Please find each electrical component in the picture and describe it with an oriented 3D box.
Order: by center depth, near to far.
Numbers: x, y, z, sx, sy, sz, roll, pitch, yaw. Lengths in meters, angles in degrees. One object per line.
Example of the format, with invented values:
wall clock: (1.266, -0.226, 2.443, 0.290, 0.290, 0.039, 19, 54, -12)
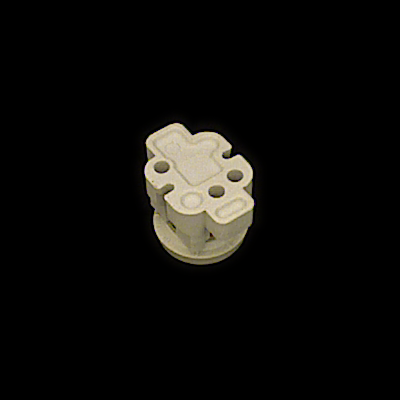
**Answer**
electrical component: (0.000, 0.000, 0.637, 0.058, 0.078, 0.057, -31, -32, -21)
